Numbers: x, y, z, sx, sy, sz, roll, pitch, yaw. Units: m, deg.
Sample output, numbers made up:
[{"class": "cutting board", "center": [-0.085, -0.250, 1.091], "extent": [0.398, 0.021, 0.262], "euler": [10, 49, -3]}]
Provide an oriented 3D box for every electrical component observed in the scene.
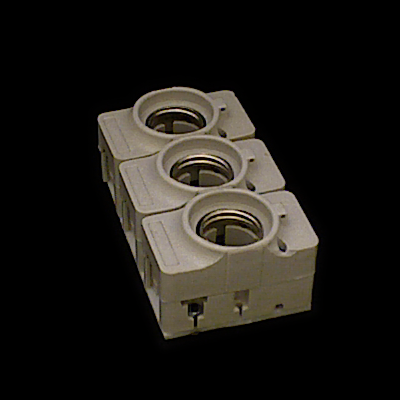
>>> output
[{"class": "electrical component", "center": [0.000, 0.000, 0.637], "extent": [0.089, 0.063, 0.147], "euler": [-11, 44, -14]}]
